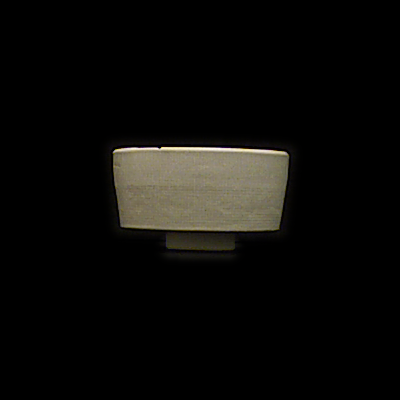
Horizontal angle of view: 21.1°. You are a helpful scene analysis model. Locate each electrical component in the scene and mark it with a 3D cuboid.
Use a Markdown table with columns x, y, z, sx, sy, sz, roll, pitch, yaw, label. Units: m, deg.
| x | y | z | sx | sy | sz | roll | pitch | yaw | label |
| --- | --- | --- | --- | --- | --- | --- | --- | --- | --- |
| 0.000 | 0.000 | 0.660 | 0.108 | 0.060 | 0.108 | 1 | 1 | 1 | electrical component |
